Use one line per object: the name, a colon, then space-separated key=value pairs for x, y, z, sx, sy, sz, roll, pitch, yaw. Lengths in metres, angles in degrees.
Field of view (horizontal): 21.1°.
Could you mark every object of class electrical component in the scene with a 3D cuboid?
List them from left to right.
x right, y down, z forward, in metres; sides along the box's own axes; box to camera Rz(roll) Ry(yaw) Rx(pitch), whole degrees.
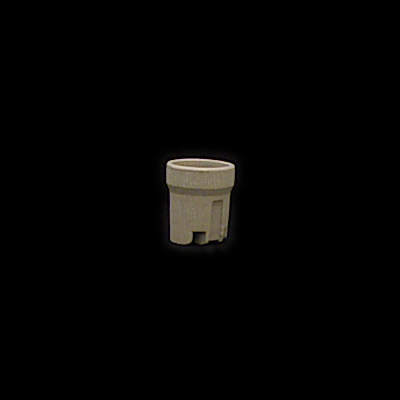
electrical component: x=0.000 y=0.000 z=0.642 sx=0.040 sy=0.046 sz=0.040 roll=1 pitch=11 yaw=0
